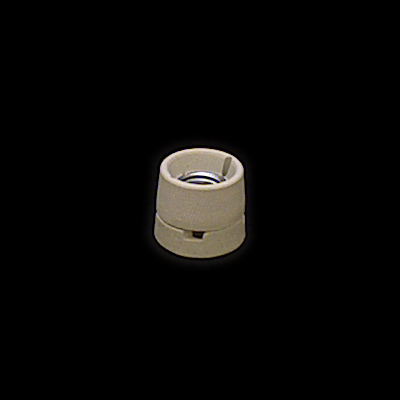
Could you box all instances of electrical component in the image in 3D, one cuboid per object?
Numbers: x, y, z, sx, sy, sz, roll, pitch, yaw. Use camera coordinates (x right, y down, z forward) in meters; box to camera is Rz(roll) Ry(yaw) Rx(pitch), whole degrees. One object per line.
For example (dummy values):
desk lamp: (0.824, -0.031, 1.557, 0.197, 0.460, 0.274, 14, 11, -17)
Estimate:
electrical component: (0.000, 0.000, 0.639, 0.055, 0.047, 0.055, 2, 31, -1)
